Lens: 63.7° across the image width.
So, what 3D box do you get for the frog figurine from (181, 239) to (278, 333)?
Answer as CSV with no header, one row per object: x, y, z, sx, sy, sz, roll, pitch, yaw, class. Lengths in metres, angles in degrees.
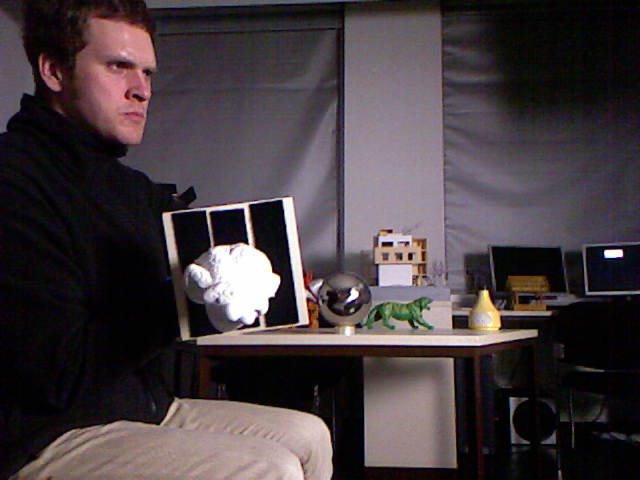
-0.132,0.063,0.740,0.138,0.123,0.161,11,5,-2,frog figurine
